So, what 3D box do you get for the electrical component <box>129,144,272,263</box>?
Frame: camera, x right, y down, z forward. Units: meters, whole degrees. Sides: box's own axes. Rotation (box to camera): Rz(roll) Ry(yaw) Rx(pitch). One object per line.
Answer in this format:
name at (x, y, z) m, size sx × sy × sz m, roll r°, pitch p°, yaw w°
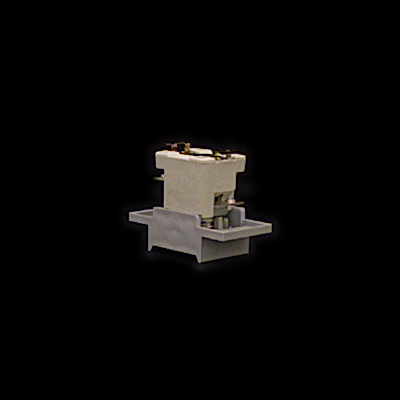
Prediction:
electrical component at (0.000, 0.000, 0.644) m, size 0.080 × 0.064 × 0.042 m, roll 11°, pitch 15°, yaw 43°
